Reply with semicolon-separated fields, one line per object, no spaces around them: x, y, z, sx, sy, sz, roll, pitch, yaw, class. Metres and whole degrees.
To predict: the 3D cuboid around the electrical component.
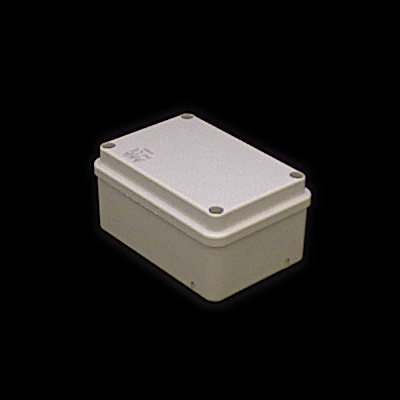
0.000;0.000;0.633;0.078;0.058;0.112;-24;40;-35;electrical component
